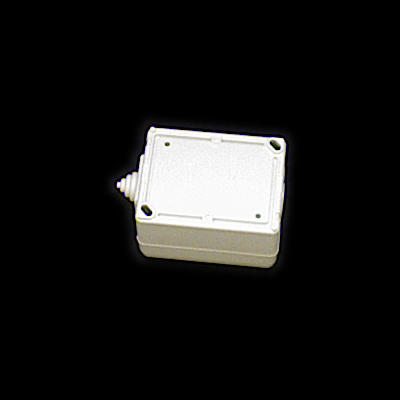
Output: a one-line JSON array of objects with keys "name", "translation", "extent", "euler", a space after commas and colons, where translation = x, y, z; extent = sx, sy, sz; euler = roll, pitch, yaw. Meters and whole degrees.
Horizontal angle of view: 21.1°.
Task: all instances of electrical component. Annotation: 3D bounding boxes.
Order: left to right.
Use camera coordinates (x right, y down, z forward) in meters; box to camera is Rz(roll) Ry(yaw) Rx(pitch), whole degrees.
[{"name": "electrical component", "translation": [0.000, 0.000, 0.626], "extent": [0.096, 0.062, 0.061], "euler": [5, -27, 2]}]
